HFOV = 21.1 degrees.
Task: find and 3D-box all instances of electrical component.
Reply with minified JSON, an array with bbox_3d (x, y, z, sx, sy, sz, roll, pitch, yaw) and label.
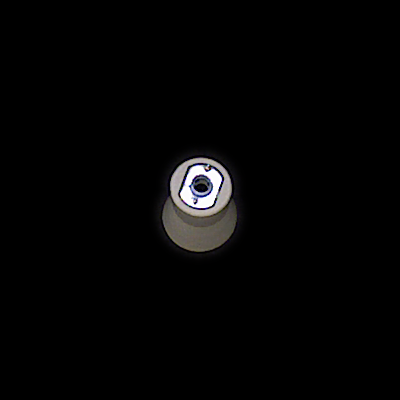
[{"bbox_3d":[0.000,0.000,0.624,0.044,0.044,0.065,0,-17,-1],"label":"electrical component"}]
